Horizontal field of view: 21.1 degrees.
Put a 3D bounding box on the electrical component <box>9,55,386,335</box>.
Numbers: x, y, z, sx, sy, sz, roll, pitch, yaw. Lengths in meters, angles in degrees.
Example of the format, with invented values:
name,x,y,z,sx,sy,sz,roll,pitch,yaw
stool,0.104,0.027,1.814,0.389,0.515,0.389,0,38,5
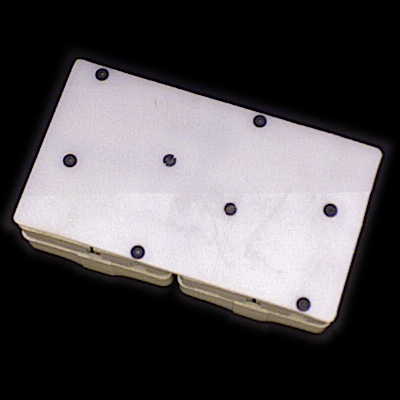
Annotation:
name,x,y,z,sx,sy,sz,roll,pitch,yaw
electrical component,0.000,0.000,0.625,0.186,0.106,0.060,17,-16,5
